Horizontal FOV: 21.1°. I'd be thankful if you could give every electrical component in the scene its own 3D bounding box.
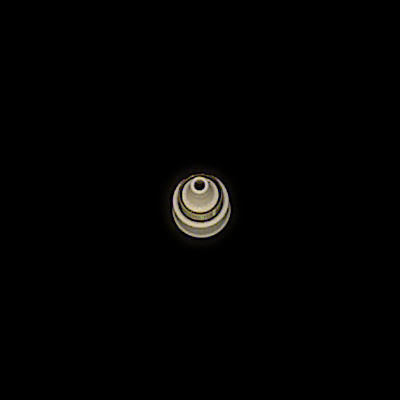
[{"bbox_3d":[0.000,0.000,0.637,0.035,0.035,0.061,0,-18,1],"label":"electrical component"}]
